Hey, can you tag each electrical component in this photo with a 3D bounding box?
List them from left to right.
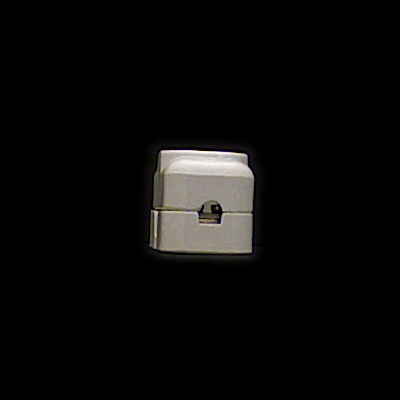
[{"bbox_3d":[0.000,0.000,0.656,0.054,0.059,0.095,2,0,-8],"label":"electrical component"}]
